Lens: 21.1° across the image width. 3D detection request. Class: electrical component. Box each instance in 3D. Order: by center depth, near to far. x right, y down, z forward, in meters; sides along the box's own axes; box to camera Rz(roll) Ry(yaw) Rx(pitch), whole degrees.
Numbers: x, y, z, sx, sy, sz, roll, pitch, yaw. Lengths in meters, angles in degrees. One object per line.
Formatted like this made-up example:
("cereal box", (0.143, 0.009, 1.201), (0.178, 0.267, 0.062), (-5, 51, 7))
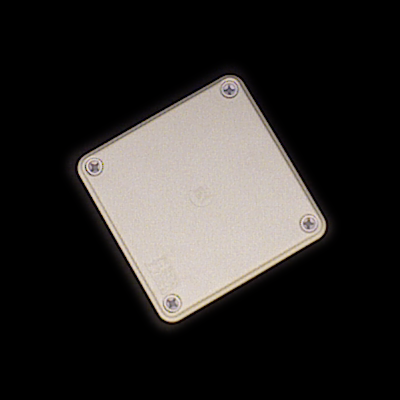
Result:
("electrical component", (0.000, 0.000, 0.631), (0.109, 0.109, 0.056), (-30, -6, -4))
